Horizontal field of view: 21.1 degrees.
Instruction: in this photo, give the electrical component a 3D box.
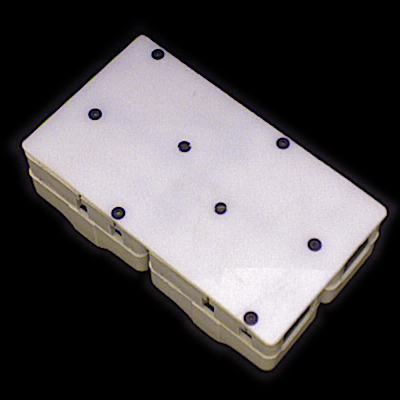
[{"bbox_3d":[0.000,0.000,0.625,0.186,0.106,0.060,37,-21,17],"label":"electrical component"}]
